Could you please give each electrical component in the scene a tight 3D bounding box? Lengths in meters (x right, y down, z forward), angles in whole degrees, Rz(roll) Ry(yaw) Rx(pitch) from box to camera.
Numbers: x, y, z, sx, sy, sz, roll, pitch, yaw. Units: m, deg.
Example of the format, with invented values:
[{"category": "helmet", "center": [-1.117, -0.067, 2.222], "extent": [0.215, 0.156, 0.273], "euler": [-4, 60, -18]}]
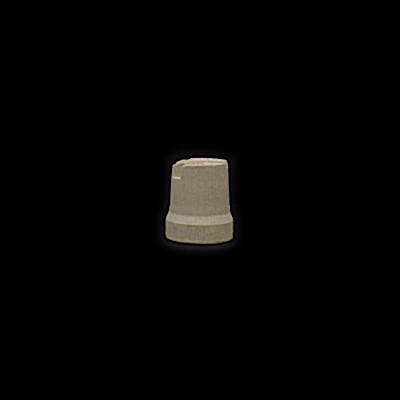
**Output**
[{"category": "electrical component", "center": [0.000, 0.000, 0.647], "extent": [0.040, 0.046, 0.040], "euler": [2, 11, 0]}]
